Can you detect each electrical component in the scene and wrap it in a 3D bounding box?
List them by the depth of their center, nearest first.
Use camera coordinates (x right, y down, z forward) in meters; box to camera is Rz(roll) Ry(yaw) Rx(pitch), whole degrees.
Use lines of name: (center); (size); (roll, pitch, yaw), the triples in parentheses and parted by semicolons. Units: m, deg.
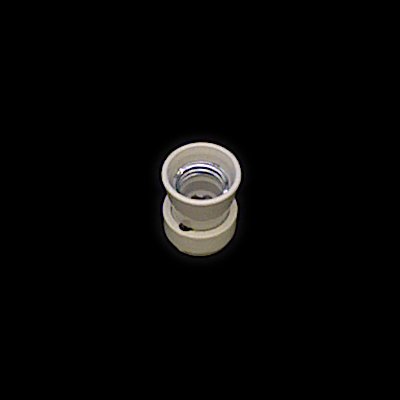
electrical component: (0.000, 0.000, 0.630); (0.045, 0.044, 0.055); (0, -37, -1)
